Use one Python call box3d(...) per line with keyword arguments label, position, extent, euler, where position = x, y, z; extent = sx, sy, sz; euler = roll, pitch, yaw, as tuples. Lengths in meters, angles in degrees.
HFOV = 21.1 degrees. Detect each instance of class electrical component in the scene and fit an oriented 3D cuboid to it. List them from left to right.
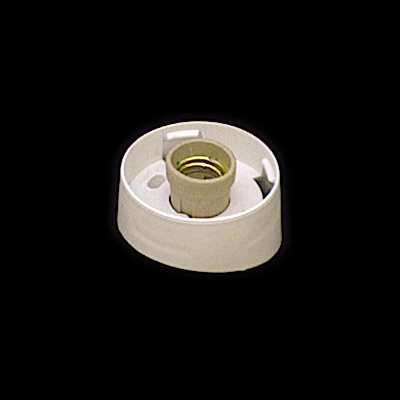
box3d(label="electrical component", position=(0.000, 0.000, 0.629), extent=(0.099, 0.064, 0.098), euler=(1, 42, 0))
